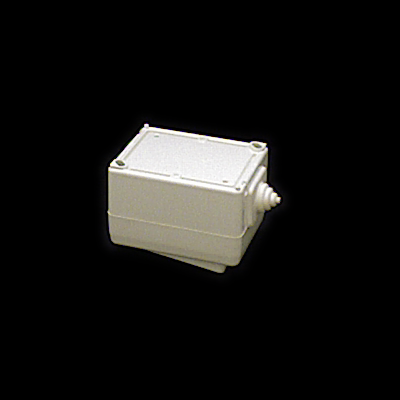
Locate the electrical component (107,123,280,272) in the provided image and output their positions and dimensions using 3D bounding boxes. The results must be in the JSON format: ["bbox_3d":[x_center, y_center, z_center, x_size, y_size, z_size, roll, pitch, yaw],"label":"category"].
[{"bbox_3d":[0.000,0.000,0.634,0.096,0.061,0.061,10,32,15],"label":"electrical component"}]
